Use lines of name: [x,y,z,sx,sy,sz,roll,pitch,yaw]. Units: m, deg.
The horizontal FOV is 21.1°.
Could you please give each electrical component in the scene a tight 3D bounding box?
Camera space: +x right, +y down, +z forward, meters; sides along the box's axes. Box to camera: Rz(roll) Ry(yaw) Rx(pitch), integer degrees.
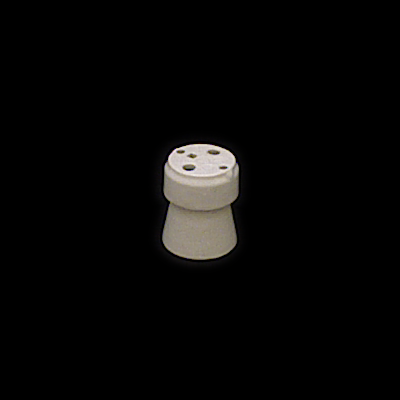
electrical component: [0.000,0.000,0.636,0.045,0.056,0.044,1,32,-1]
